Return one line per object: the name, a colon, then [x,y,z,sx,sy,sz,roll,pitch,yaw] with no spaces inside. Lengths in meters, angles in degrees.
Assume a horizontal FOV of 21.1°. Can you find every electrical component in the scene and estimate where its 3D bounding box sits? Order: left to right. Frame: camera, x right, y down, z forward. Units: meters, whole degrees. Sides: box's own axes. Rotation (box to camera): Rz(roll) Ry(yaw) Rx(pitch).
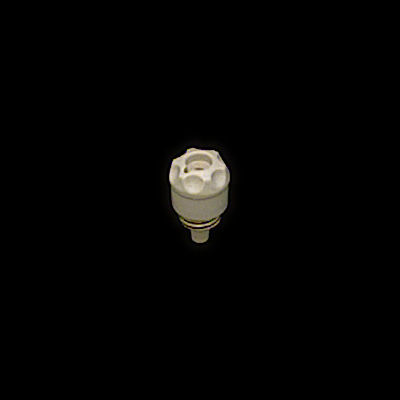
electrical component: [0.000,0.000,0.637,0.035,0.062,0.035,0,43,0]
